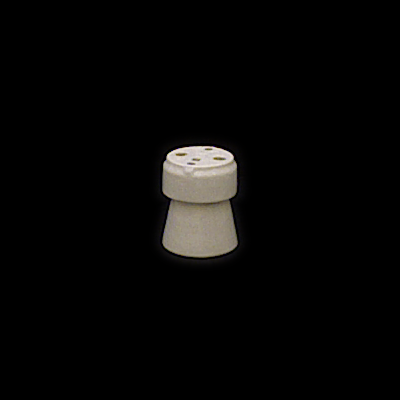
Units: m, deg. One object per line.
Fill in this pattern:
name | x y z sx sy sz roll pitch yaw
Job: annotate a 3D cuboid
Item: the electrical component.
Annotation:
electrical component | 0.000 0.000 0.640 0.045 0.056 0.044 1 21 0
